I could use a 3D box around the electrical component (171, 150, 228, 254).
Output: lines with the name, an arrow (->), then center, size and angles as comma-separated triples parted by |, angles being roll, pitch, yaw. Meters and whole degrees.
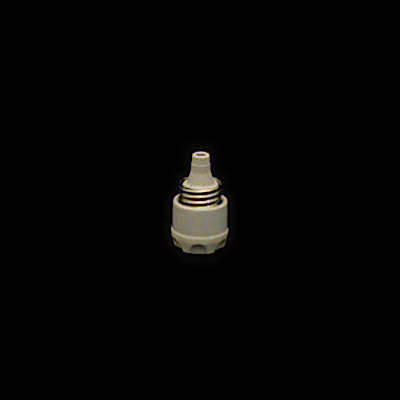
electrical component -> 0.000, 0.000, 0.653 | 0.035, 0.062, 0.034 | 1, 24, 0
